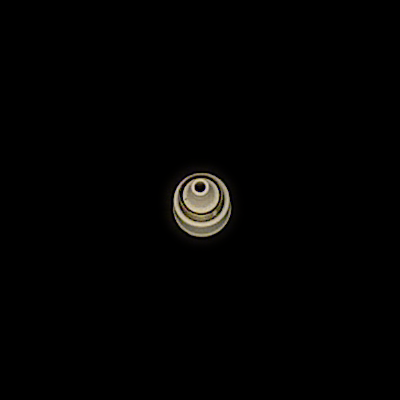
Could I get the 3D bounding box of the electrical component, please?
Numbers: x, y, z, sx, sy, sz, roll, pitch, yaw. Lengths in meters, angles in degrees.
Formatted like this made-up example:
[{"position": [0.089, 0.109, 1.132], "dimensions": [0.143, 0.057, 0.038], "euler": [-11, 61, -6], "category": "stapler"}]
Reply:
[{"position": [0.000, 0.000, 0.637], "dimensions": [0.035, 0.035, 0.061], "euler": [0, -15, 2], "category": "electrical component"}]
